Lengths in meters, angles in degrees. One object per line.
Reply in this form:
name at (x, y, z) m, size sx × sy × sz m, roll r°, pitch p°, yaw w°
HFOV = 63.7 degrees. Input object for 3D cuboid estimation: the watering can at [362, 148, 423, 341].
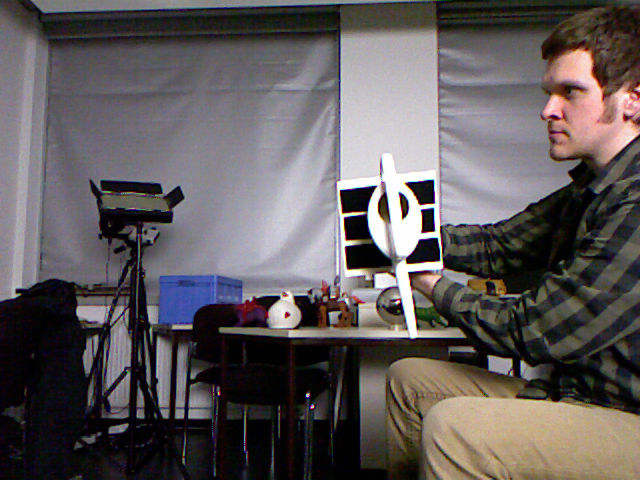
watering can at (0.143, 0.001, 0.995) m, size 0.104 × 0.349 × 0.226 m, roll -8°, pitch 1°, yaw 3°
